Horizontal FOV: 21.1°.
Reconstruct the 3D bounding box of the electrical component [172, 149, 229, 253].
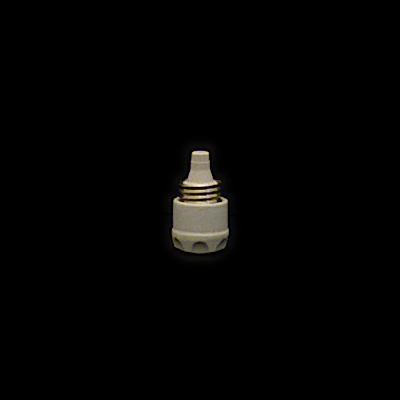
[{"bbox_3d":[0.000,0.000,0.657,0.035,0.062,0.035,0,13,0],"label":"electrical component"}]
